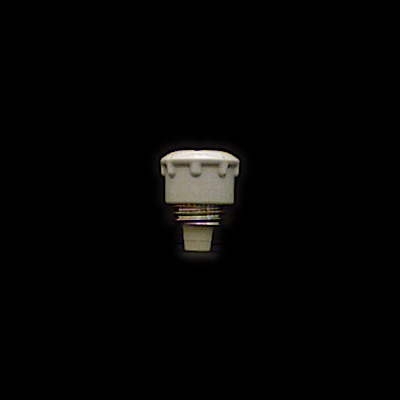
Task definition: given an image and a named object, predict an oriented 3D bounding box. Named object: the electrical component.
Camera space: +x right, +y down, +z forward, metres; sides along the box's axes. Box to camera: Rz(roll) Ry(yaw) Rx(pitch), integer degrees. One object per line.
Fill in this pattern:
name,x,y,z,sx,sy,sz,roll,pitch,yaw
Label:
electrical component,0.000,0.000,0.656,0.048,0.062,0.048,1,2,0
